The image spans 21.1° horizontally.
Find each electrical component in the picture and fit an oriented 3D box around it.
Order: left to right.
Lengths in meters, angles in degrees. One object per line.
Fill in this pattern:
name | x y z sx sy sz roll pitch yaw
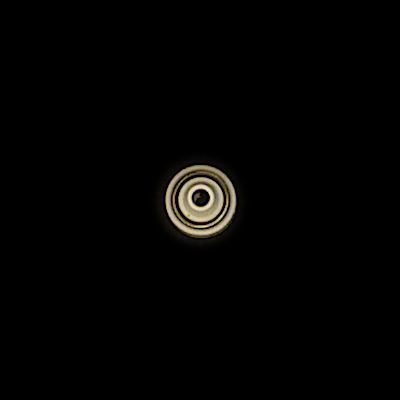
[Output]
electrical component | 0.000 0.000 0.635 0.043 0.043 0.062 0 -4 1
